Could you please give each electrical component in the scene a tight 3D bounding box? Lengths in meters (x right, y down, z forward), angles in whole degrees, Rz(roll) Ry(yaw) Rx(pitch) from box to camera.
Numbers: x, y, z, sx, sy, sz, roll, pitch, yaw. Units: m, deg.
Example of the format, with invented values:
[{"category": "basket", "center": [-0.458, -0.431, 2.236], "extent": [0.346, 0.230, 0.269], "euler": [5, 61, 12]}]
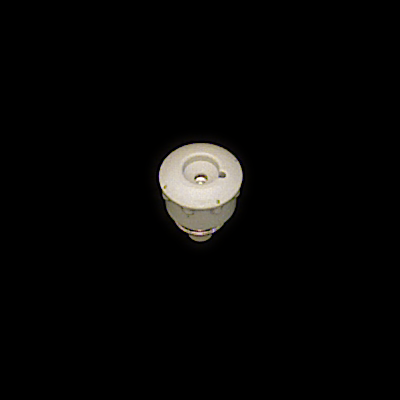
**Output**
[{"category": "electrical component", "center": [0.000, 0.000, 0.637], "extent": [0.048, 0.048, 0.062], "euler": [0, -37, 0]}]
